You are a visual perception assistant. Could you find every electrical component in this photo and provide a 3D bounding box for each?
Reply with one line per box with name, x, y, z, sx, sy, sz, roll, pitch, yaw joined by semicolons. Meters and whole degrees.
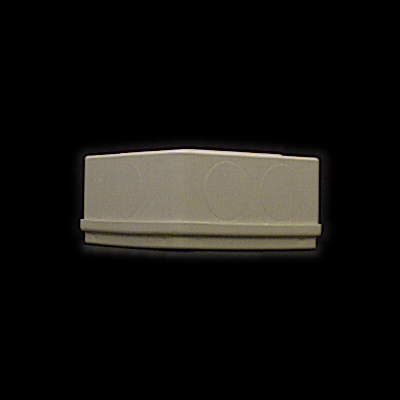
electrical component;0.000;0.000;0.648;0.109;0.056;0.108;1;0;-37
